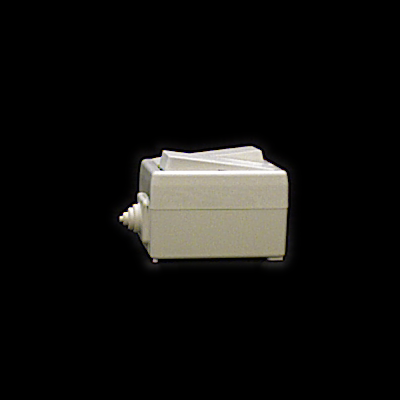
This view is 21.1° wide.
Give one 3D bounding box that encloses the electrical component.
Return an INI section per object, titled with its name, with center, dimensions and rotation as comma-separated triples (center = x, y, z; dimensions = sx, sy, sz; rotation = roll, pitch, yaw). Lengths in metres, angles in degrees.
[electrical component]
center = 0.000, 0.000, 0.644
dimensions = 0.096, 0.061, 0.061
rotation = 0, 11, -10
